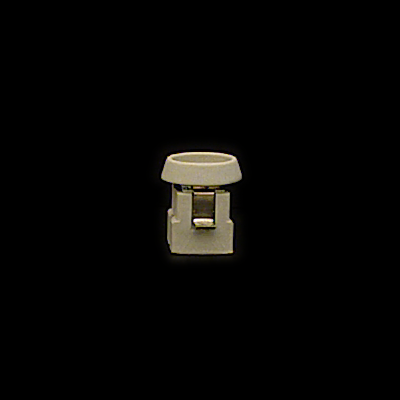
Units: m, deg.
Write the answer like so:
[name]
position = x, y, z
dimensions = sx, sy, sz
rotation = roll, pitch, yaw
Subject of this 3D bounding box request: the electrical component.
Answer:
[electrical component]
position = 0.000, 0.000, 0.651
dimensions = 0.048, 0.056, 0.066
rotation = -2, 12, -7
